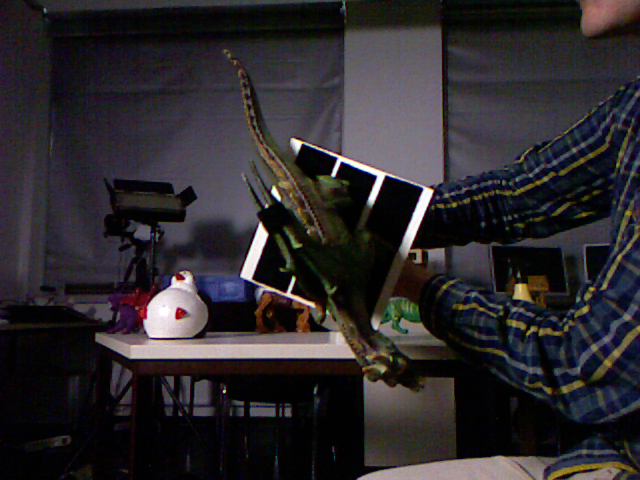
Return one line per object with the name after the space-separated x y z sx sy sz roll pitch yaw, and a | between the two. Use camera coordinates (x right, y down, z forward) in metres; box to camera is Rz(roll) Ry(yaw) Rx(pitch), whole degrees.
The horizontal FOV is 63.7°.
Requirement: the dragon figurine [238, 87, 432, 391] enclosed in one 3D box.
-0.014 -0.012 0.565 0.122 0.413 0.245 -36 -2 11 | dragon figurine
